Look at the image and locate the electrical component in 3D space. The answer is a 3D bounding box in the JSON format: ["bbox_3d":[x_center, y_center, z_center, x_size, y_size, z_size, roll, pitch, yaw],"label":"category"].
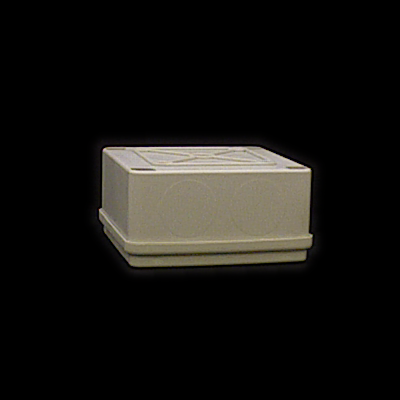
[{"bbox_3d":[0.000,0.000,0.644,0.109,0.056,0.107,-1,11,-14],"label":"electrical component"}]
